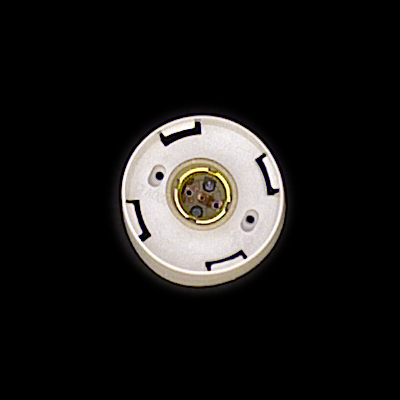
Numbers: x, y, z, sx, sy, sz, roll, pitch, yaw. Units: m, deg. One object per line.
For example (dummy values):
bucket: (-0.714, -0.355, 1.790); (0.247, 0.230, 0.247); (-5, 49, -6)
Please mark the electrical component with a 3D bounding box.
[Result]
electrical component: (0.000, 0.000, 0.626); (0.099, 0.099, 0.064); (0, -6, 0)
